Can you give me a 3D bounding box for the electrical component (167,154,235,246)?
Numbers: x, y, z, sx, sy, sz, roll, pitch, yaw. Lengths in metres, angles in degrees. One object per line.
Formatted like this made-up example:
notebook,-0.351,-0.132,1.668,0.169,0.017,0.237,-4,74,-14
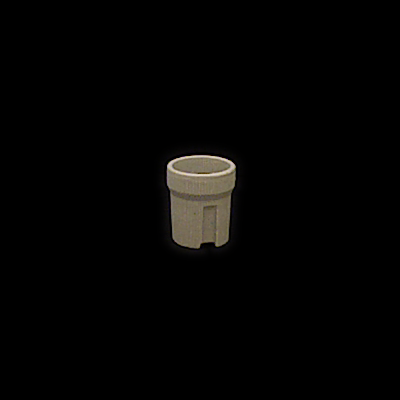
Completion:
electrical component,0.000,0.000,0.642,0.040,0.047,0.039,1,21,0
